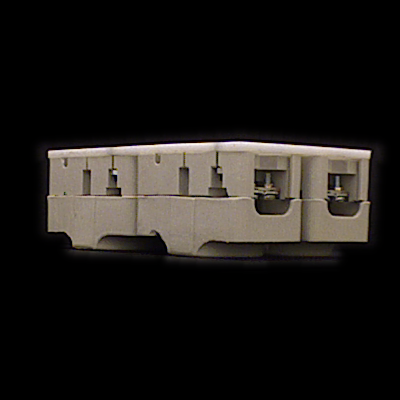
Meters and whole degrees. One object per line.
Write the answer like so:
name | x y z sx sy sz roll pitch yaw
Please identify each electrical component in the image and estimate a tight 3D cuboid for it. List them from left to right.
electrical component | 0.000 0.000 0.650 0.106 0.060 0.186 1 0 -40
